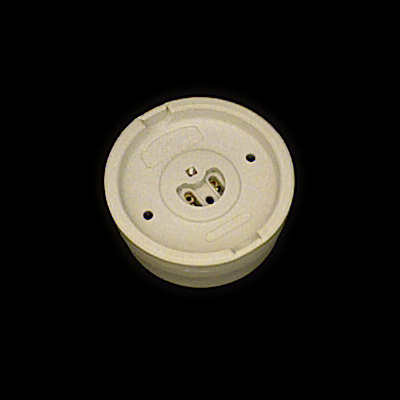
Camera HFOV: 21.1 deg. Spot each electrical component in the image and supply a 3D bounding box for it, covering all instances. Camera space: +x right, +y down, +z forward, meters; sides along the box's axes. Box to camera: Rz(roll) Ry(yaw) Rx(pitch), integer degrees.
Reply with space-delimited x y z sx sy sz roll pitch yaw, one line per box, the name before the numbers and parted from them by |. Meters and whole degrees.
electrical component | 0.000 0.000 0.634 0.108 0.108 0.060 0 -26 -1
